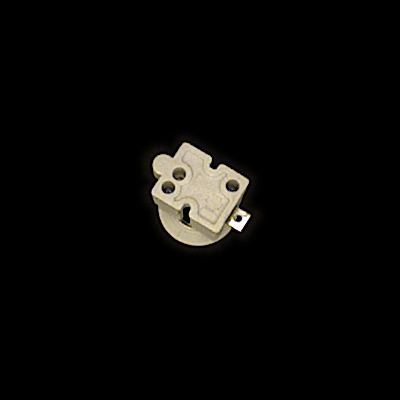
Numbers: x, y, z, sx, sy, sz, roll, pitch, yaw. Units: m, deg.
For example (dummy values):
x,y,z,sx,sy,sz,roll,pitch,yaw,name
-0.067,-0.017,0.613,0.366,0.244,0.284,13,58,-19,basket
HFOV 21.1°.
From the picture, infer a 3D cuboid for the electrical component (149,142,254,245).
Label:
x,y,z,sx,sy,sz,roll,pitch,yaw,name
0.000,0.000,0.637,0.066,0.049,0.055,31,-14,7,electrical component
